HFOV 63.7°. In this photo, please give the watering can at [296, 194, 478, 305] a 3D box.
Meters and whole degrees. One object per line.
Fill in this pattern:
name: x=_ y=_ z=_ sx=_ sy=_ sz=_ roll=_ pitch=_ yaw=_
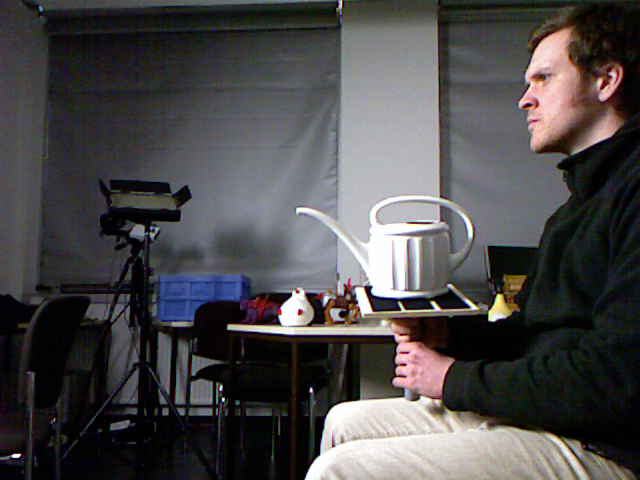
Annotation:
watering can: x=0.131 y=0.023 z=0.999 sx=0.348 sy=0.223 sz=0.105 roll=-1 pitch=10 yaw=1
